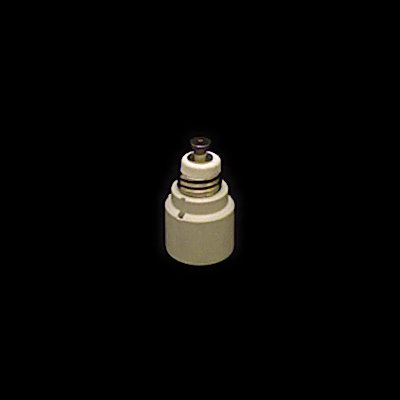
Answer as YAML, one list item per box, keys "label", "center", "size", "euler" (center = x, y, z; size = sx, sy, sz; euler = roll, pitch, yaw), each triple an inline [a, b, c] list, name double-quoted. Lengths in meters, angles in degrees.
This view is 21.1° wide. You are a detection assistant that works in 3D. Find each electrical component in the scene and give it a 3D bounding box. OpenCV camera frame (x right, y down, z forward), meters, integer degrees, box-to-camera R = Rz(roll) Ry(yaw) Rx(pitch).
- label: "electrical component"
  center: [0.000, 0.000, 0.631]
  size: [0.040, 0.079, 0.039]
  euler: [1, 32, 0]
